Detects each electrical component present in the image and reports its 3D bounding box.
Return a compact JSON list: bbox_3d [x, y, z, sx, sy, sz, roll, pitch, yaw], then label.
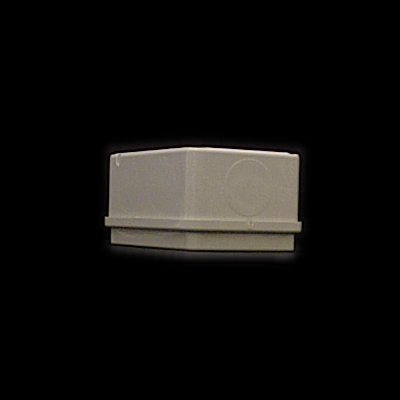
[{"bbox_3d":[0.000,0.000,0.649,0.078,0.057,0.113,1,0,-30],"label":"electrical component"}]
